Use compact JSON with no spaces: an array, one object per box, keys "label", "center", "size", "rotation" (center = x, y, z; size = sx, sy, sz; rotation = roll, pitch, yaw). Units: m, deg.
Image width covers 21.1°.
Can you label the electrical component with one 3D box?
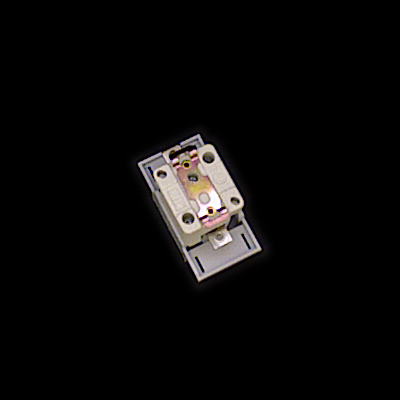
[{"label":"electrical component","center":[0.000,0.000,0.625],"size":[0.042,0.081,0.063],"rotation":[-27,-15,-8]}]
